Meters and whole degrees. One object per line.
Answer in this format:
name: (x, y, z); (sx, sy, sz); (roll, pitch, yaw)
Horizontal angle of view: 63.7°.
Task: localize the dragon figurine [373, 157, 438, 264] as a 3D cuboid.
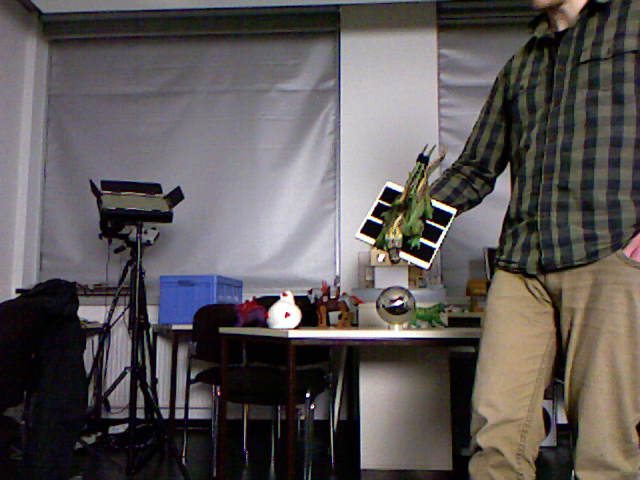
dragon figurine: (0.235, -0.111, 1.260); (0.123, 0.419, 0.238); (22, -26, 8)
